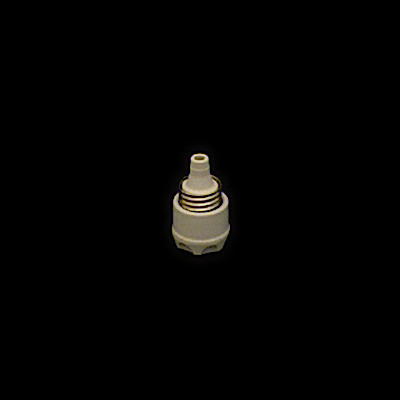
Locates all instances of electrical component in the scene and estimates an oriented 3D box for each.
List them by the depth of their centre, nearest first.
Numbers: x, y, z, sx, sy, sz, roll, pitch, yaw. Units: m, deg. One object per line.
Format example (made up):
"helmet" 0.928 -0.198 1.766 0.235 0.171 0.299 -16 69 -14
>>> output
"electrical component" 0.000 0.000 0.645 0.035 0.062 0.034 -1 32 1
